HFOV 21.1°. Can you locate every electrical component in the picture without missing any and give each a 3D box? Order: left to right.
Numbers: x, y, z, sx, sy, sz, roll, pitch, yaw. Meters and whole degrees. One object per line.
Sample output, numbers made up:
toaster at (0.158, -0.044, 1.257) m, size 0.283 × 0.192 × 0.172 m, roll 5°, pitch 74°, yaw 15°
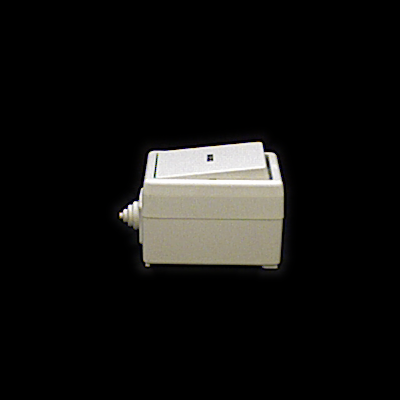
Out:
electrical component at (0.000, 0.000, 0.639) m, size 0.096 × 0.061 × 0.061 m, roll 1°, pitch 21°, yaw -1°
